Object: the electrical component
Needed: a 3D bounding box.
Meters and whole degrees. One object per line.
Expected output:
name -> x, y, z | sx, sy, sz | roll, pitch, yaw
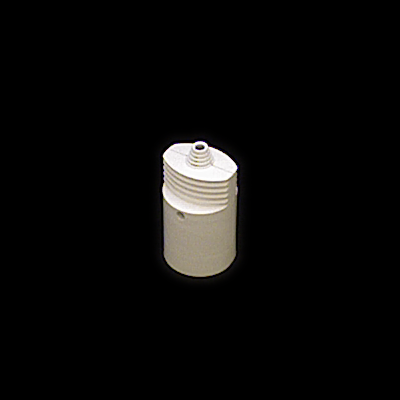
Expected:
electrical component -> 0.000, 0.000, 0.624 | 0.043, 0.082, 0.042 | 0, 42, 0
